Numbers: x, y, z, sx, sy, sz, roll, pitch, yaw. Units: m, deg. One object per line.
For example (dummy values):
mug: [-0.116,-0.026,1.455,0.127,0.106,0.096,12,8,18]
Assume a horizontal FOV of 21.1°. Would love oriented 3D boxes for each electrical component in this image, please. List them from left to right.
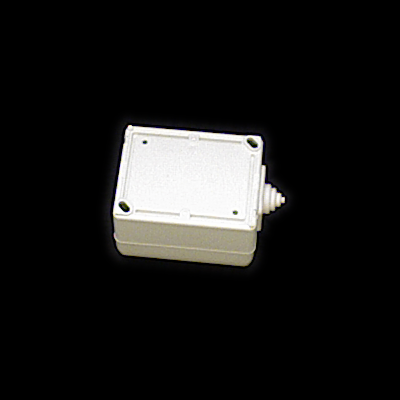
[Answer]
electrical component: [0.000,0.000,0.627,0.096,0.062,0.061,5,-28,3]
